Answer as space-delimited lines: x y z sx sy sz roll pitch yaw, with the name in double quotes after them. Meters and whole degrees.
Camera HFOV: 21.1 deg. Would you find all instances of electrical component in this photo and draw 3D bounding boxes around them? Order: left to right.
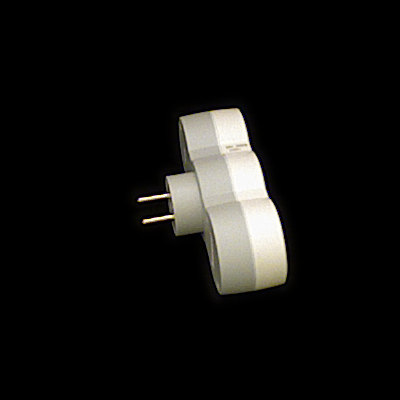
0.000 0.000 0.641 0.074 0.053 0.136 -8 44 -8 "electrical component"
